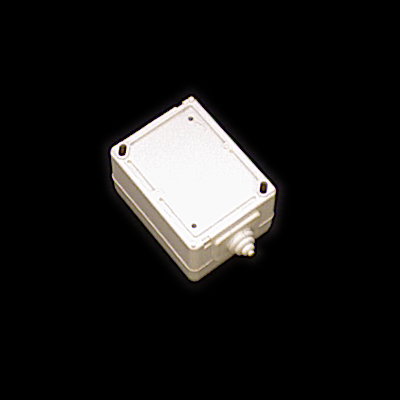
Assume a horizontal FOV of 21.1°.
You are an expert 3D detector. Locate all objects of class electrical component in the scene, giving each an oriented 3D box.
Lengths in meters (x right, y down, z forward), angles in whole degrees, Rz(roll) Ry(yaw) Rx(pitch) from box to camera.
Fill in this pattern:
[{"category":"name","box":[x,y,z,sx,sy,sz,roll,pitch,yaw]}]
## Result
[{"category":"electrical component","box":[0.000,0.000,0.626,0.062,0.096,0.060,-35,-21,-16]}]
